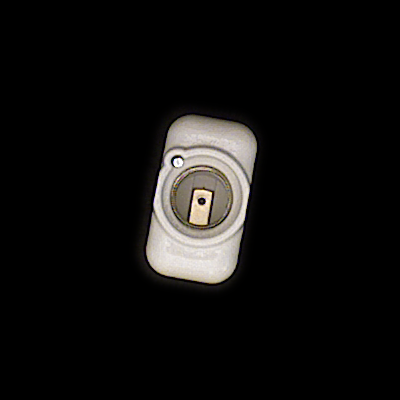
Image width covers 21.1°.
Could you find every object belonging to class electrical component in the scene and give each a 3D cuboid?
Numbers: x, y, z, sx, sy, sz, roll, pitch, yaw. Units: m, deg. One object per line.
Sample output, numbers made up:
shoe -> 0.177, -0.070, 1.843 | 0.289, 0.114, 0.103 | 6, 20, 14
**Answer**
electrical component -> 0.000, 0.000, 0.635 | 0.054, 0.095, 0.059 | 9, -6, 1
